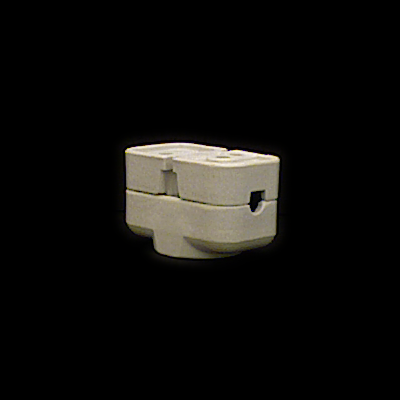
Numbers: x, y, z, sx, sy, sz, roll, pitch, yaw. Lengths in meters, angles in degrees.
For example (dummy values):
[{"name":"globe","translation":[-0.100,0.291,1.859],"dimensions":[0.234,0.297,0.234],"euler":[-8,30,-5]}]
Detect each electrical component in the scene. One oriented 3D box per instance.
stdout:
[{"name":"electrical component","translation":[0.000,0.000,0.654],"dimensions":[0.094,0.060,0.054],"euler":[11,15,44]}]
